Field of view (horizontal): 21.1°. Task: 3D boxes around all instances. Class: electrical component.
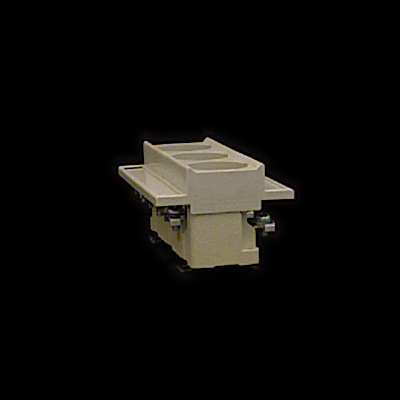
[{"bbox_3d":[0.000,0.000,0.655,0.079,0.063,0.120,-3,12,-14],"label":"electrical component"}]
